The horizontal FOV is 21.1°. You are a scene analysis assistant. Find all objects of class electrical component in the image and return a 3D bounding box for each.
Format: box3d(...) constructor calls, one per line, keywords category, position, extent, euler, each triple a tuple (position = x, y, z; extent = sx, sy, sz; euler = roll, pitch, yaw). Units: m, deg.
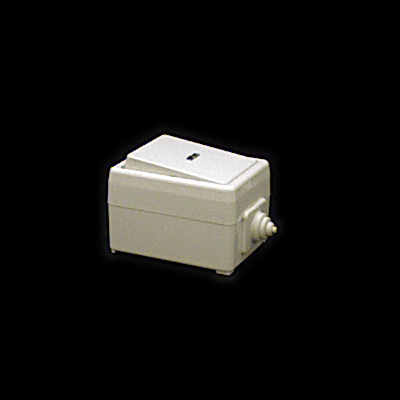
box3d(category="electrical component", position=(0.000, 0.000, 0.638), extent=(0.096, 0.061, 0.061), euler=(10, 23, 22))
